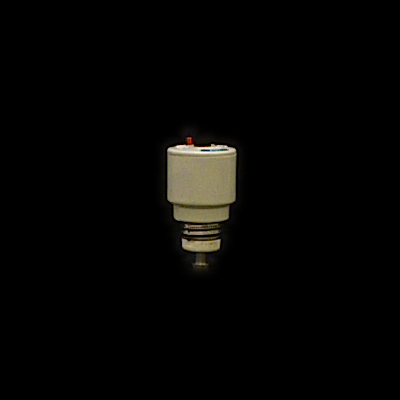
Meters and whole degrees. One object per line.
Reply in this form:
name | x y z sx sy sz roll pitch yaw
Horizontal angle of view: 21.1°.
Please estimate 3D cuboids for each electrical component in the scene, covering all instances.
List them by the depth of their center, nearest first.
electrical component | 0.000 0.000 0.645 0.040 0.079 0.040 1 11 0
